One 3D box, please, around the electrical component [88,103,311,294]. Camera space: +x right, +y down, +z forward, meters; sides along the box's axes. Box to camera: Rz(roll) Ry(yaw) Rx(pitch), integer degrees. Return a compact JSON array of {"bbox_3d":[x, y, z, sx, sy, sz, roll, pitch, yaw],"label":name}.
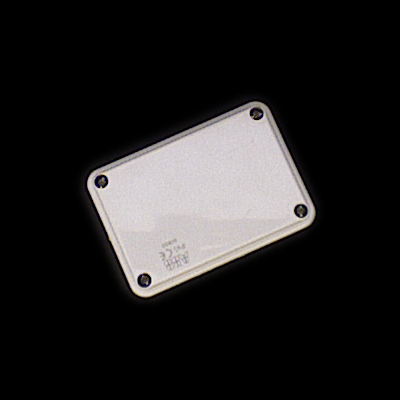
[{"bbox_3d":[0.000,0.000,0.627,0.113,0.078,0.057,-24,-6,-3],"label":"electrical component"}]
